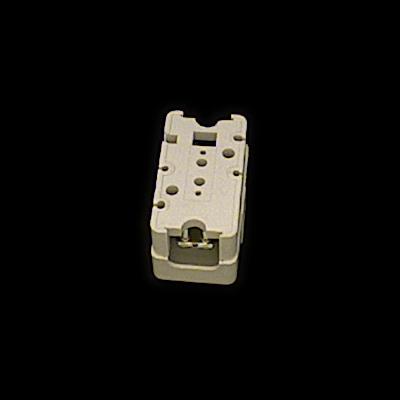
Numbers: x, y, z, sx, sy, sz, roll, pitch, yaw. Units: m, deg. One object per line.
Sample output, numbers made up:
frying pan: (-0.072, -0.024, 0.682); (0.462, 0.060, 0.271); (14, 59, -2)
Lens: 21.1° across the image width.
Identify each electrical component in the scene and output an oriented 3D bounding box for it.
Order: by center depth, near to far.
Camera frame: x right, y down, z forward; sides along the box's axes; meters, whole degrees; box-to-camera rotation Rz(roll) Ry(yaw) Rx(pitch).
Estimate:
electrical component: (0.000, 0.000, 0.637); (0.050, 0.089, 0.056); (4, -37, 4)
